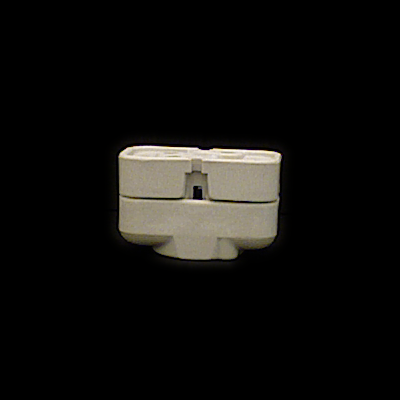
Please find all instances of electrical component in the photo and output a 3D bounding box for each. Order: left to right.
[{"bbox_3d":[0.000,0.000,0.649,0.095,0.060,0.053,3,12,4],"label":"electrical component"}]
